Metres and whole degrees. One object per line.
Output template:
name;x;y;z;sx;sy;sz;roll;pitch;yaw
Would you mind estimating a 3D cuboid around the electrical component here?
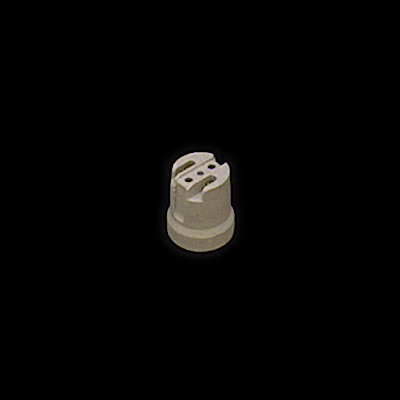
electrical component;0.000;0.000;0.635;0.040;0.046;0.040;0;42;0
